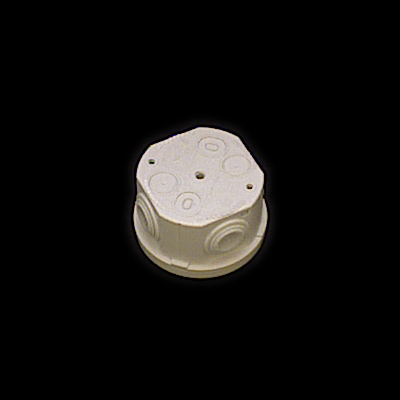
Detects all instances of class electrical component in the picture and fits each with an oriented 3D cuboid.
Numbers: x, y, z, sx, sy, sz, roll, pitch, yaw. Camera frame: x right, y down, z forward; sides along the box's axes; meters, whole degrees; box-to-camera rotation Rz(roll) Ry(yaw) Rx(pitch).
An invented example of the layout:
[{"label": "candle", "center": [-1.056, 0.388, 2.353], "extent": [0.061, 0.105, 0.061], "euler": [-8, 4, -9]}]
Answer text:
[{"label": "electrical component", "center": [0.000, 0.000, 0.632], "extent": [0.080, 0.080, 0.051], "euler": [0, -38, 0]}]
